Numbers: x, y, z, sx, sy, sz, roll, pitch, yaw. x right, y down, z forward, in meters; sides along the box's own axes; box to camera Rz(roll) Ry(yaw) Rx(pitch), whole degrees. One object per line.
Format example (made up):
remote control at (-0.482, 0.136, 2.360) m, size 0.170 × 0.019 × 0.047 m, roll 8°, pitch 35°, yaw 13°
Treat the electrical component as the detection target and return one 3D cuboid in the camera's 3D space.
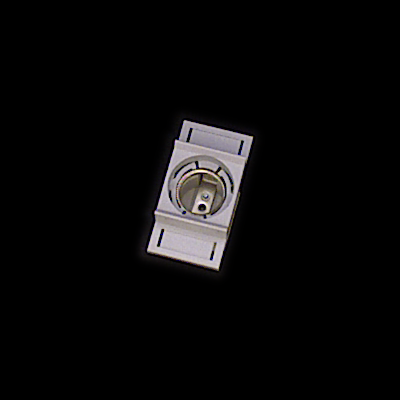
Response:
electrical component at (0.000, 0.000, 0.624) m, size 0.042 × 0.081 × 0.063 m, roll 14°, pitch -16°, yaw 6°
